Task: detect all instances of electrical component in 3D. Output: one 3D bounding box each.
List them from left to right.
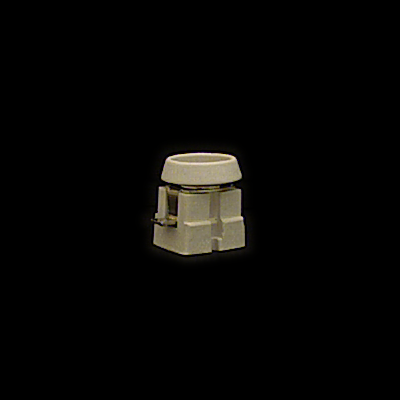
[{"bbox_3d":[0.000,0.000,0.650,0.067,0.056,0.048,-7,12,-36],"label":"electrical component"}]
